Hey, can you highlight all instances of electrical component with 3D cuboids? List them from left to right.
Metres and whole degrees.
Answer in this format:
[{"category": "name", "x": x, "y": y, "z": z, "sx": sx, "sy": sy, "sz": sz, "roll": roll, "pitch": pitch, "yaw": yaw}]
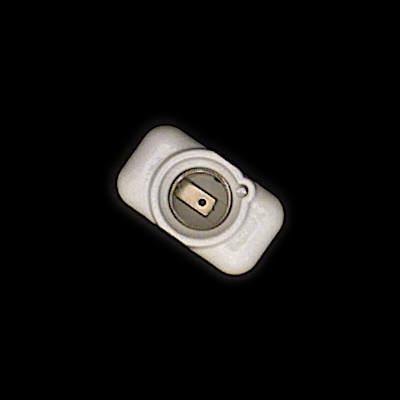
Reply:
[{"category": "electrical component", "x": 0.000, "y": 0.000, "z": 0.635, "sx": 0.095, "sy": 0.054, "sz": 0.059, "roll": 34, "pitch": -4, "yaw": 3}]
